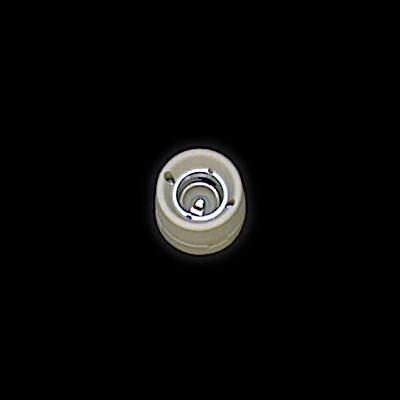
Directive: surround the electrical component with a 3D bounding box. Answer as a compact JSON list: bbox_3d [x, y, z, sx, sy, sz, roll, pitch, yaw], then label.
[{"bbox_3d":[0.000,0.000,0.633,0.055,0.056,0.047,0,-17,1],"label":"electrical component"}]
